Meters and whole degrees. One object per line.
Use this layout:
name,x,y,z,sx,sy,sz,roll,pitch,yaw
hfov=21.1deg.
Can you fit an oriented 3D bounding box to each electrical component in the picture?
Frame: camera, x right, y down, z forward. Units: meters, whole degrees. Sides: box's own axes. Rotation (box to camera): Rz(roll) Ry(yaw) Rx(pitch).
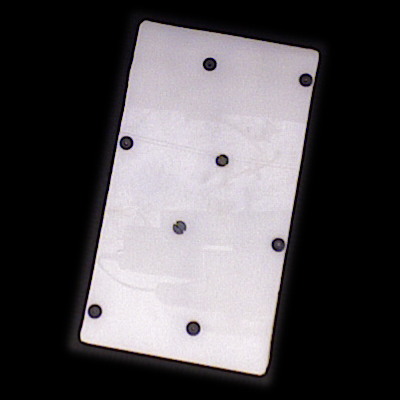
electrical component,0.000,0.000,0.626,0.105,0.187,0.060,10,-7,2
